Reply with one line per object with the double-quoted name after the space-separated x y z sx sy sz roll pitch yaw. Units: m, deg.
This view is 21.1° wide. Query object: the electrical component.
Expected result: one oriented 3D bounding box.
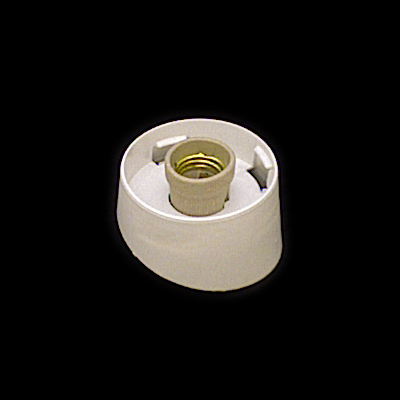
0.000 0.000 0.629 0.099 0.064 0.098 1 42 -1 "electrical component"
